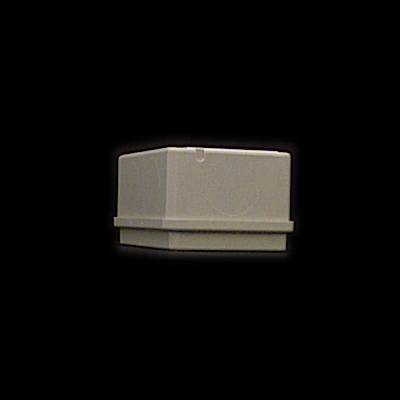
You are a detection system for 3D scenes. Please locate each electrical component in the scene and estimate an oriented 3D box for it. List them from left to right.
[{"bbox_3d":[0.000,0.000,0.649,0.078,0.057,0.113,1,0,-20],"label":"electrical component"}]
